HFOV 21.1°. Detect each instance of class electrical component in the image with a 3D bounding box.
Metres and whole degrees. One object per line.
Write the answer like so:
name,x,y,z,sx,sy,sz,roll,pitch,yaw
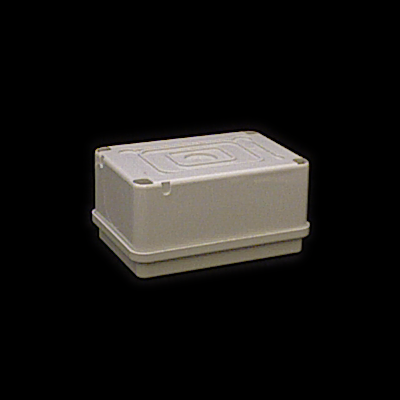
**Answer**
electrical component,0.000,0.000,0.640,0.113,0.058,0.077,-8,22,-23
